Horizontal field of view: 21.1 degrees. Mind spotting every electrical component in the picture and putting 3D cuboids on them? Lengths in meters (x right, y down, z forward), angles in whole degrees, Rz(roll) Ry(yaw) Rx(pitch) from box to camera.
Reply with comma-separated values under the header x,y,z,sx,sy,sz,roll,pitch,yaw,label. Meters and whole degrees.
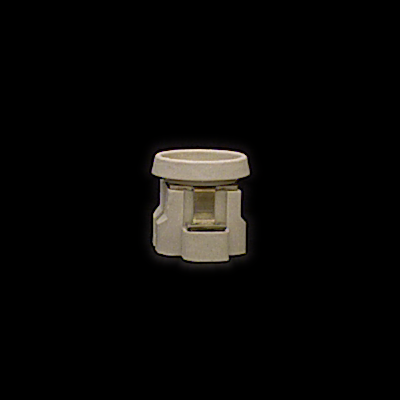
x,y,z,sx,sy,sz,roll,pitch,yaw,label
0.000,0.000,0.643,0.058,0.057,0.078,0,11,-8,electrical component
